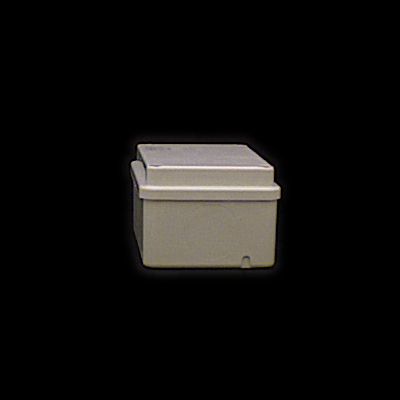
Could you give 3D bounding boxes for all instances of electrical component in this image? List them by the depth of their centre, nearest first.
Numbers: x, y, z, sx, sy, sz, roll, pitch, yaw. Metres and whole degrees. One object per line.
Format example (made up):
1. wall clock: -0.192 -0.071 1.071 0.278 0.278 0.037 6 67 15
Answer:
1. electrical component: 0.000 0.000 0.643 0.078 0.057 0.112 0 11 -7
